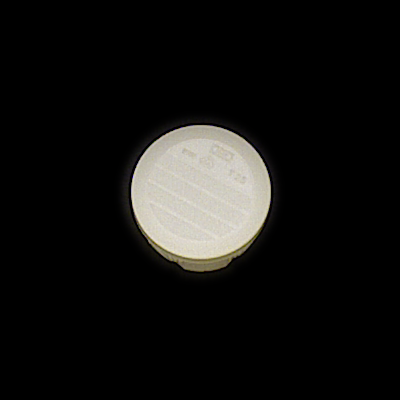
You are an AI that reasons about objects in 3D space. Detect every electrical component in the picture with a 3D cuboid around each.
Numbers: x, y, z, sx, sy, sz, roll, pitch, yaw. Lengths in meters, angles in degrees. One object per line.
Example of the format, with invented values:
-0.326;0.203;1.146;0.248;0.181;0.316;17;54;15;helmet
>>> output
0.000;0.000;0.629;0.080;0.080;0.050;0;-17;0;electrical component
